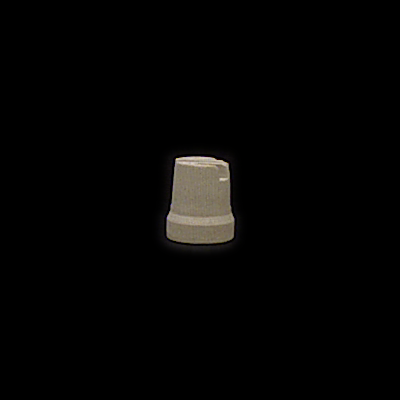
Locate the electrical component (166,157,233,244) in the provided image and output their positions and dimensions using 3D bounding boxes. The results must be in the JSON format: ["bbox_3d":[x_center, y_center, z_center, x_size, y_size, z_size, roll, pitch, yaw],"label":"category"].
[{"bbox_3d":[0.000,0.000,0.645,0.040,0.046,0.040,1,12,0],"label":"electrical component"}]
